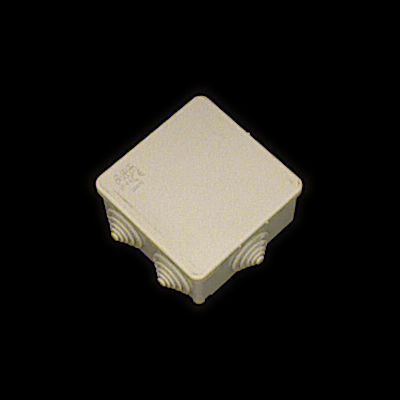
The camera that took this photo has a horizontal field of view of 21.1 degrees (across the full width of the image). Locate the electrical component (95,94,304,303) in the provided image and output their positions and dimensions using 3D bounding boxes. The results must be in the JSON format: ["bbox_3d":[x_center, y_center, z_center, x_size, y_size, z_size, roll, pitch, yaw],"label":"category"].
[{"bbox_3d":[0.000,0.000,0.639,0.100,0.099,0.048,-41,-19,-18],"label":"electrical component"}]
